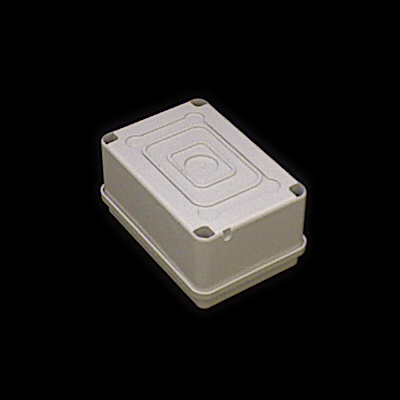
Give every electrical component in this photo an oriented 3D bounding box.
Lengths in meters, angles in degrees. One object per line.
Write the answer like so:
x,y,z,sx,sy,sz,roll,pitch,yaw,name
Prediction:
0.000,0.000,0.632,0.078,0.057,0.112,-24,47,-25,electrical component
